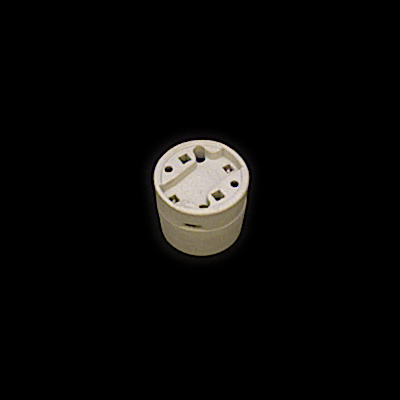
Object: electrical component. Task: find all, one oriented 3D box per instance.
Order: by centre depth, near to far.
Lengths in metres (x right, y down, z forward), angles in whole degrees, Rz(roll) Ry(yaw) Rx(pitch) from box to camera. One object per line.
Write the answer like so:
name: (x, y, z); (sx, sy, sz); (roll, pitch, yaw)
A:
electrical component: (0.000, 0.000, 0.633); (0.055, 0.055, 0.047); (0, -38, 0)
